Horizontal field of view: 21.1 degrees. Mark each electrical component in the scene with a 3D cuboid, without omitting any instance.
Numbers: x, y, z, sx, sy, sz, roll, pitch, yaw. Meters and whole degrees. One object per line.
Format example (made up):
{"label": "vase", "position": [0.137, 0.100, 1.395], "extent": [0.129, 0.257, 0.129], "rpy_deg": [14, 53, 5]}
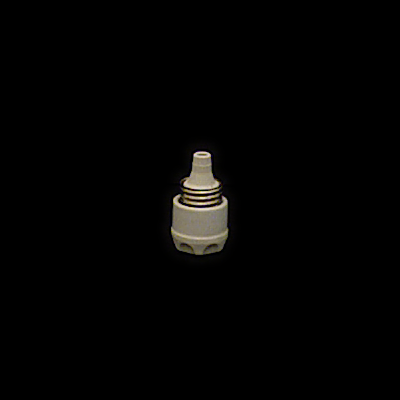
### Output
{"label": "electrical component", "position": [0.000, 0.000, 0.652], "extent": [0.035, 0.062, 0.034], "rpy_deg": [2, 22, -1]}
